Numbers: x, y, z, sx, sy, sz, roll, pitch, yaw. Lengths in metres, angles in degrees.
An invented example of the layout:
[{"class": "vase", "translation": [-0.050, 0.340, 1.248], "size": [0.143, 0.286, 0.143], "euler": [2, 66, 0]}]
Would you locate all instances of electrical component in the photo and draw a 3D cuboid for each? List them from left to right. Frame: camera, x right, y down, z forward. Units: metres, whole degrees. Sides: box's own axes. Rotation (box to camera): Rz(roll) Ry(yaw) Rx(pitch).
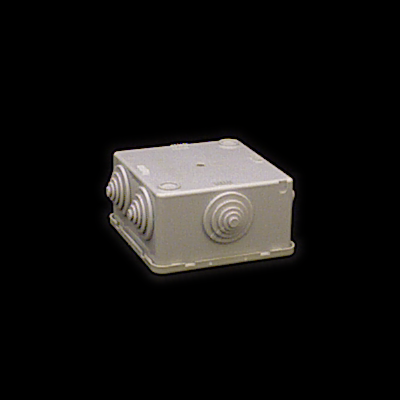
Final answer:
[{"class": "electrical component", "translation": [0.000, 0.000, 0.640], "size": [0.100, 0.049, 0.098], "euler": [-7, 22, -21]}]
